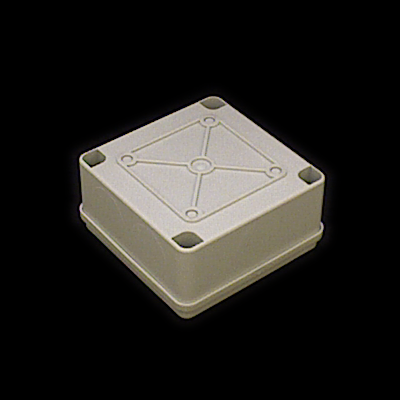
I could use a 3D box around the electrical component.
[{"bbox_3d":[0.000,0.000,0.634,0.109,0.057,0.107,-27,49,-29],"label":"electrical component"}]
